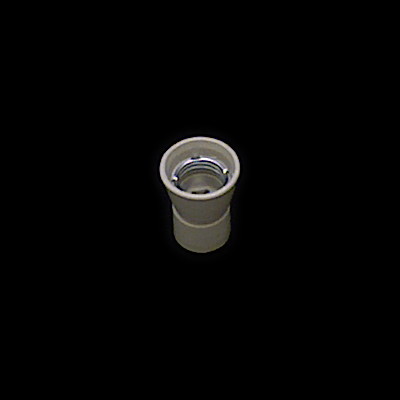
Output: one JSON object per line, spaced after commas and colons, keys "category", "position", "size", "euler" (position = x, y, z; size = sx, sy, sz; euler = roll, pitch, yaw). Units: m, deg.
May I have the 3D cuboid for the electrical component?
{"category": "electrical component", "position": [0.000, 0.000, 0.626], "size": [0.044, 0.044, 0.065], "euler": [0, -37, 1]}
